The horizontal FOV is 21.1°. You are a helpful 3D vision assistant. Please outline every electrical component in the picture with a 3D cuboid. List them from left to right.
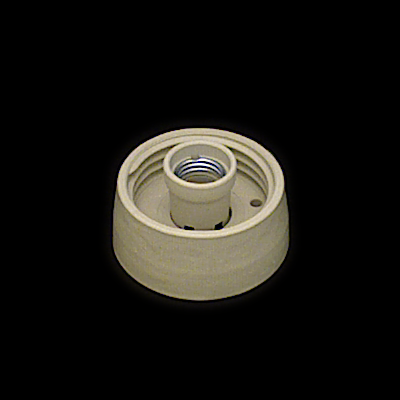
[{"bbox_3d":[0.000,0.000,0.638,0.108,0.061,0.107,1,43,0],"label":"electrical component"}]
